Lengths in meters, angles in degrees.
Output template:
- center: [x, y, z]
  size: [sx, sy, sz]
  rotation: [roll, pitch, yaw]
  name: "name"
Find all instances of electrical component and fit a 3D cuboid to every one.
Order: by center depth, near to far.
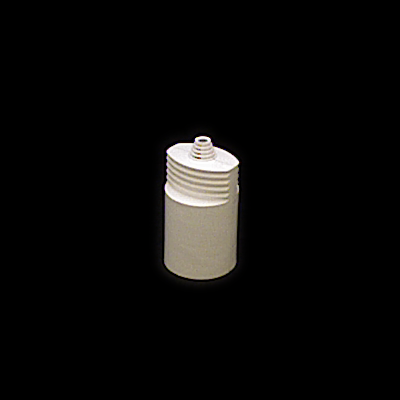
- center: [0.000, 0.000, 0.628]
  size: [0.043, 0.082, 0.042]
  rotation: [1, 31, 0]
  name: "electrical component"
